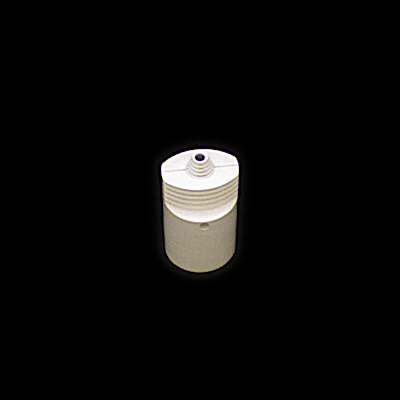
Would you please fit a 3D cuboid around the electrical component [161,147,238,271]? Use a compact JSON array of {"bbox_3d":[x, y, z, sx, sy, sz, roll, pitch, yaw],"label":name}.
[{"bbox_3d":[0.000,0.000,0.619,0.043,0.043,0.081,0,-38,0],"label":"electrical component"}]
